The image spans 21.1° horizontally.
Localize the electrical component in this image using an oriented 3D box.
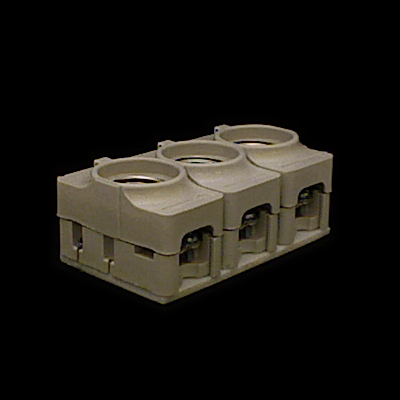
[{"bbox_3d":[0.000,0.000,0.645,0.088,0.063,0.149,18,26,39],"label":"electrical component"}]
